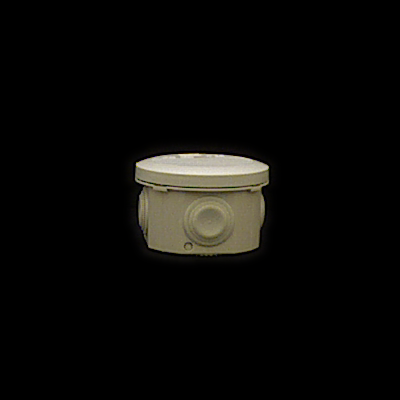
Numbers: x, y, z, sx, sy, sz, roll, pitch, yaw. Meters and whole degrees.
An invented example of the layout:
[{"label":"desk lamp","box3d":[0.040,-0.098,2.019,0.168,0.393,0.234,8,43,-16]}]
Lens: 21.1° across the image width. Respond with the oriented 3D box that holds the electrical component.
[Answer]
[{"label":"electrical component","box3d":[0.000,0.000,0.646,0.080,0.051,0.079,1,11,0]}]
